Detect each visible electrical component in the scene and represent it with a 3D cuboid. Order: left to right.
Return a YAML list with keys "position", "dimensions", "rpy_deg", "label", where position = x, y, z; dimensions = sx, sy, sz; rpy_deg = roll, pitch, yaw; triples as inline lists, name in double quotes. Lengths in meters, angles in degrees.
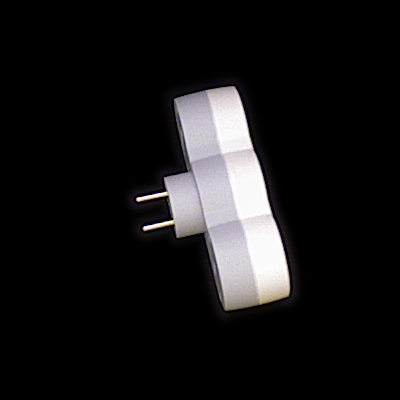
- position: [0.000, 0.000, 0.629]
  dimensions: [0.074, 0.138, 0.052]
  rpy_deg: [-12, -25, -4]
  label: "electrical component"
